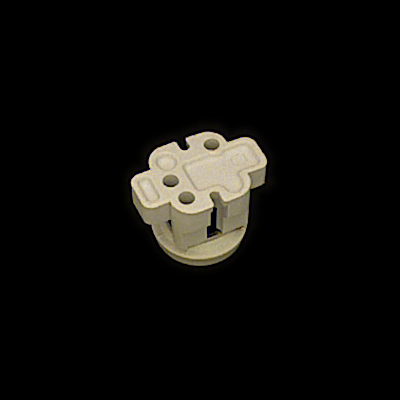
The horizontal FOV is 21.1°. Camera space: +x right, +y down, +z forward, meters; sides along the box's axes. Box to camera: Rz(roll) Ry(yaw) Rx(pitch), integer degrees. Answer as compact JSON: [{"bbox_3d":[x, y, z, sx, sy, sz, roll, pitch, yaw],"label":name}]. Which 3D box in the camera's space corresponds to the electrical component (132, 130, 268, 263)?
[{"bbox_3d":[0.000,0.000,0.638,0.079,0.057,0.057,-21,-35,-17],"label":"electrical component"}]
